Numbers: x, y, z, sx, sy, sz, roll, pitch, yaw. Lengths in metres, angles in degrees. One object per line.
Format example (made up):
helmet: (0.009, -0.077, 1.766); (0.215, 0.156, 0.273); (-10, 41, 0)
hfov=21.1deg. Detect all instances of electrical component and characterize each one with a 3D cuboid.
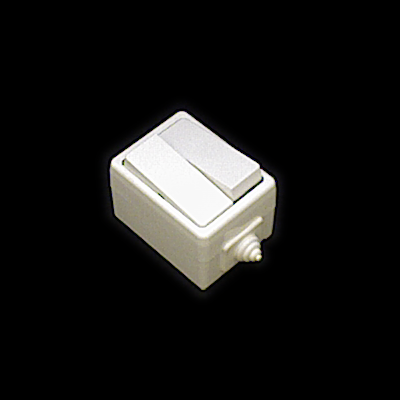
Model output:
electrical component: (0.000, 0.000, 0.627); (0.062, 0.061, 0.096); (-38, 61, -25)
